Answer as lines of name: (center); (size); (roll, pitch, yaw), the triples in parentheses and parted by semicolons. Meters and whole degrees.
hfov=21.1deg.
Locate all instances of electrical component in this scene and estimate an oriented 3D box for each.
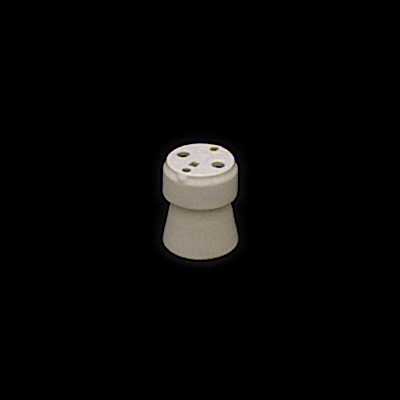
electrical component: (0.000, 0.000, 0.636); (0.045, 0.056, 0.044); (1, 31, 0)
